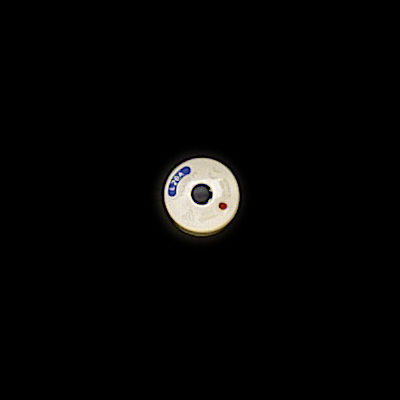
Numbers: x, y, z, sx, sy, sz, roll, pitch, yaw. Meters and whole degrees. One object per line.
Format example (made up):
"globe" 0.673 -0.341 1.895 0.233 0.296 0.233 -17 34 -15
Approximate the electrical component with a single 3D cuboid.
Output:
"electrical component" 0.000 0.000 0.617 0.040 0.040 0.078 0 -6 0
